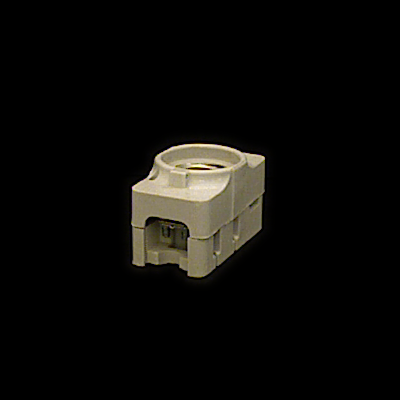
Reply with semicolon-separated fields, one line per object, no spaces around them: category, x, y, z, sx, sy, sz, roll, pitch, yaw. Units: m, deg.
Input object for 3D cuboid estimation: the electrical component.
electrical component;0.000;0.000;0.646;0.050;0.056;0.089;11;23;23
